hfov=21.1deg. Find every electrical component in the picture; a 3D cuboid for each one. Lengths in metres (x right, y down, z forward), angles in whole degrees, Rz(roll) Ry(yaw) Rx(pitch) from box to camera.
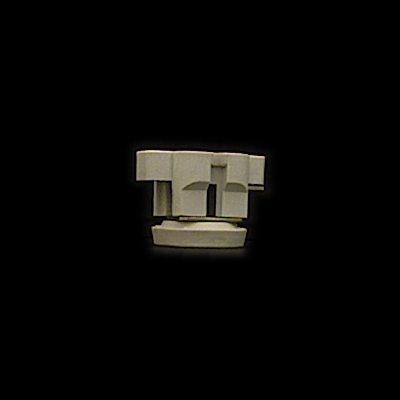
[{"bbox_3d":[0.000,0.000,0.658,0.079,0.057,0.057,2,0,-25],"label":"electrical component"}]
